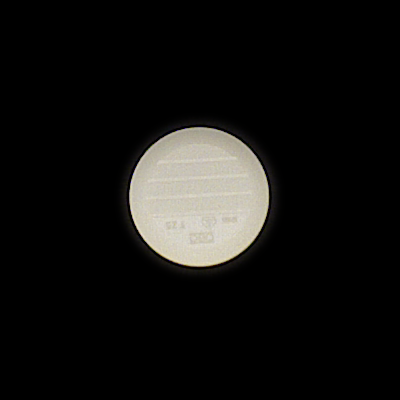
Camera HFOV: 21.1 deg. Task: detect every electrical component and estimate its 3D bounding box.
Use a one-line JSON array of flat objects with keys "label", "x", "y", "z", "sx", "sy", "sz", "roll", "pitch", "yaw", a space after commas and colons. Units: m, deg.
[{"label": "electrical component", "x": 0.000, "y": 0.000, "z": 0.631, "sx": 0.080, "sy": 0.080, "sz": 0.050, "roll": 0, "pitch": -7, "yaw": 0}]
